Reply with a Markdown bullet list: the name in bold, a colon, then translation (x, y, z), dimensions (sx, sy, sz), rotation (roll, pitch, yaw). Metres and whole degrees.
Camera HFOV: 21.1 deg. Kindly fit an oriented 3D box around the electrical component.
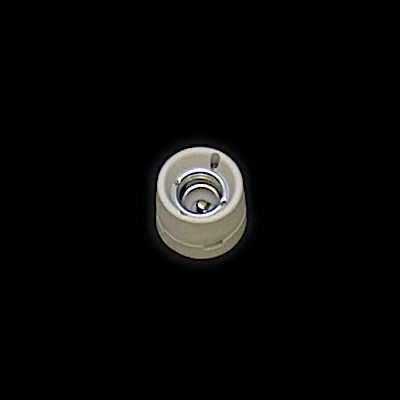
- **electrical component**: translation (0.000, 0.000, 0.632), dimensions (0.055, 0.056, 0.047), rotation (0, -26, 1)
